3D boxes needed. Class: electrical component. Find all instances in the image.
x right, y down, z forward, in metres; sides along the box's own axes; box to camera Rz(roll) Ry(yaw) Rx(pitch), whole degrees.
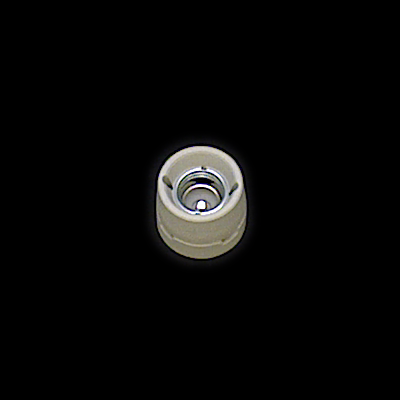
[{"bbox_3d":[0.000,0.000,0.633,0.055,0.056,0.047,0,-28,1],"label":"electrical component"}]
